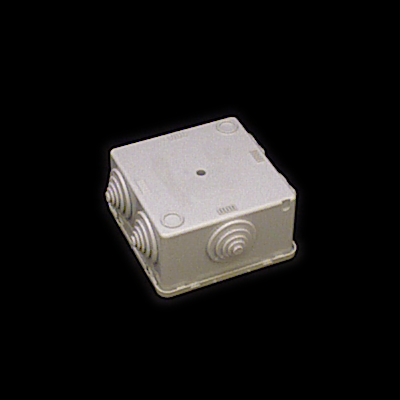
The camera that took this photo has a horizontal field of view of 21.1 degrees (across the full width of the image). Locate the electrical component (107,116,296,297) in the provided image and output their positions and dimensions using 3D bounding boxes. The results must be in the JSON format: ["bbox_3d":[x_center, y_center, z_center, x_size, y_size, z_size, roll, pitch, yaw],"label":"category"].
[{"bbox_3d":[0.000,0.000,0.633,0.100,0.049,0.099,-16,45,-18],"label":"electrical component"}]
